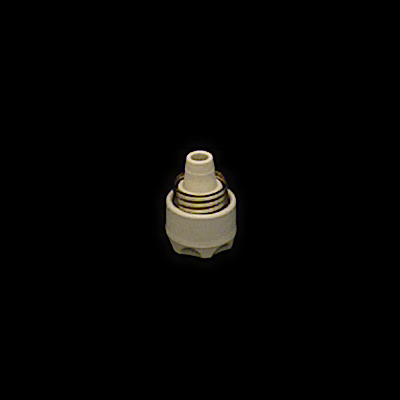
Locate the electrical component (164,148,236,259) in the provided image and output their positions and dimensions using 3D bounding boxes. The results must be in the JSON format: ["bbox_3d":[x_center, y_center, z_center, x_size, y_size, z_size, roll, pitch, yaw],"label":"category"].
[{"bbox_3d":[0.000,0.000,0.641,0.043,0.063,0.043,0,32,1],"label":"electrical component"}]
